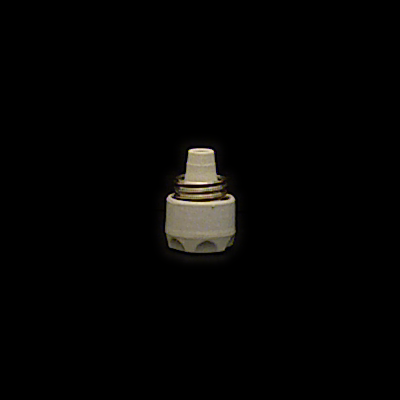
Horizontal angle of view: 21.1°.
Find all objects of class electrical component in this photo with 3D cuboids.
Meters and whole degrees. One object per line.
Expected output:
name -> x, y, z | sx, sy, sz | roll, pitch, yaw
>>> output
electrical component -> 0.000, 0.000, 0.650 | 0.043, 0.062, 0.043 | 1, 13, 0
